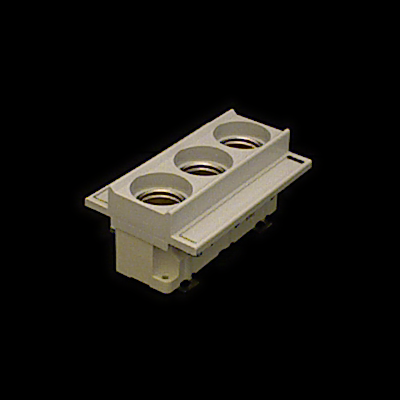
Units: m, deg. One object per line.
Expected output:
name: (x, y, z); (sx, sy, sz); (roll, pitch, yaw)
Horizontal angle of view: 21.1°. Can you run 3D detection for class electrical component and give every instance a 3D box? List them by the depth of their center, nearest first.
electrical component: (0.000, 0.000, 0.647); (0.078, 0.064, 0.120); (23, 38, 29)
